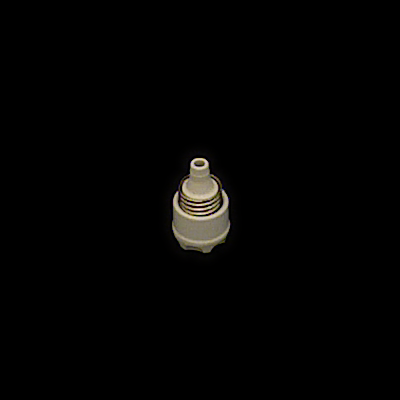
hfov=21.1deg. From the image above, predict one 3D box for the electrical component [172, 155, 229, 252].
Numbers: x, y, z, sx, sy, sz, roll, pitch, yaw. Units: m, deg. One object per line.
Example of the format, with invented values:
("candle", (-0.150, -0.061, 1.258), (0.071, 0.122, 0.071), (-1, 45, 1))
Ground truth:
("electrical component", (0.000, 0.000, 0.642), (0.035, 0.062, 0.035), (-1, 43, 1))
